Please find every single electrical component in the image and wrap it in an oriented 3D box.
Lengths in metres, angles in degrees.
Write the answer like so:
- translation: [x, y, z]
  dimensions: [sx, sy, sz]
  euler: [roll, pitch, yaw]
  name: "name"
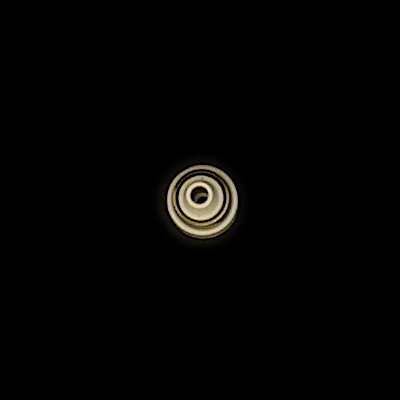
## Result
- translation: [0.000, 0.000, 0.635]
  dimensions: [0.043, 0.043, 0.062]
  euler: [0, -6, 2]
  name: "electrical component"
